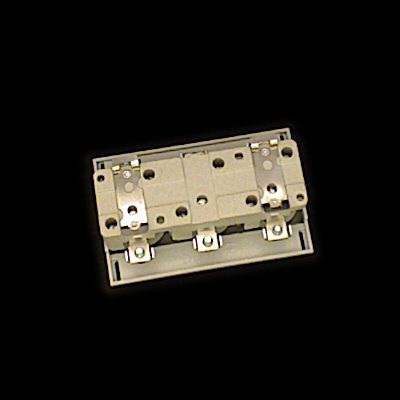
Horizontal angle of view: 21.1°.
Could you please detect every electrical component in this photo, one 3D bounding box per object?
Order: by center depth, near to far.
[{"bbox_3d":[0.000,0.000,0.634,0.121,0.079,0.063,-9,-17,-3],"label":"electrical component"}]
